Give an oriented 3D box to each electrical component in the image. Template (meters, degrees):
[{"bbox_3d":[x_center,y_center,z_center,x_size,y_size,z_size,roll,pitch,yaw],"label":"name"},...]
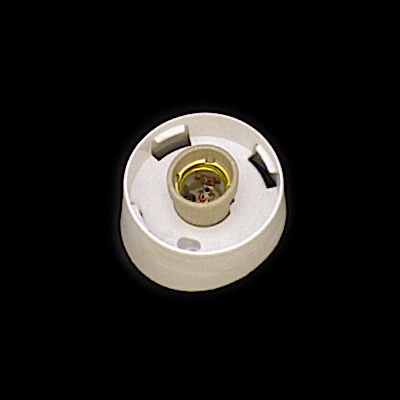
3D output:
[{"bbox_3d":[0.000,0.000,0.625,0.099,0.099,0.064,0,-27,0],"label":"electrical component"}]
